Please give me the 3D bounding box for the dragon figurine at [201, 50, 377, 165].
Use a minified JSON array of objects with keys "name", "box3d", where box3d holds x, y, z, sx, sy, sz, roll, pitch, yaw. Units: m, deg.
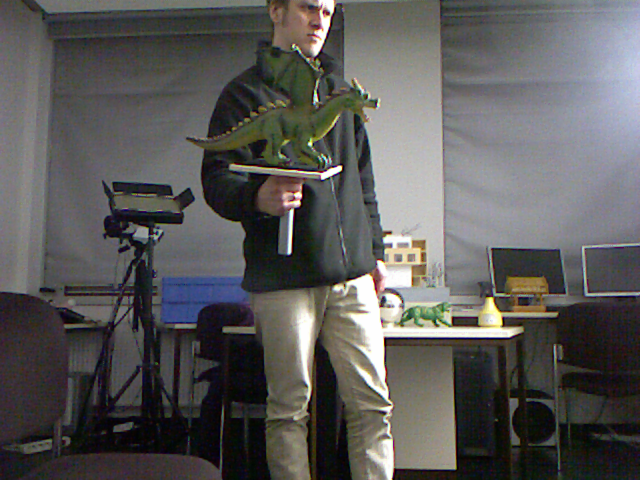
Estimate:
[{"name":"dragon figurine","box3d":[-0.082,-0.292,1.138,0.411,0.239,0.124,8,19,12]}]
